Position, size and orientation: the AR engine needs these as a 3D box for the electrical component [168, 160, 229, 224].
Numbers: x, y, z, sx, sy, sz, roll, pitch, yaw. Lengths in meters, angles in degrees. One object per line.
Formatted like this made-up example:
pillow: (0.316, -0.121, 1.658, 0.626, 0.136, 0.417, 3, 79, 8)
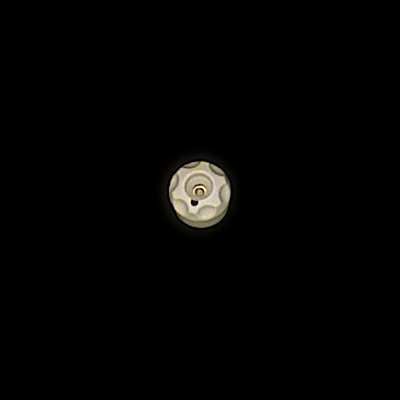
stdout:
electrical component: (0.000, 0.000, 0.633, 0.035, 0.035, 0.061, 0, -16, 1)
